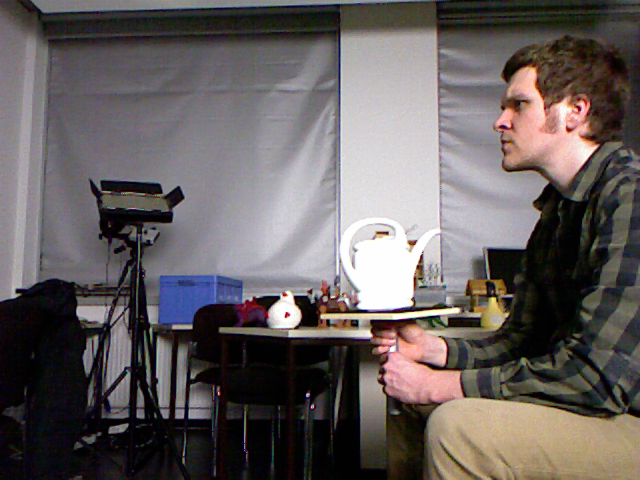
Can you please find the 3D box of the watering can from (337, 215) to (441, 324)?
[{"bbox_3d":[0.165,0.061,1.108,0.348,0.225,0.104,1,-3,-43],"label":"watering can"}]
